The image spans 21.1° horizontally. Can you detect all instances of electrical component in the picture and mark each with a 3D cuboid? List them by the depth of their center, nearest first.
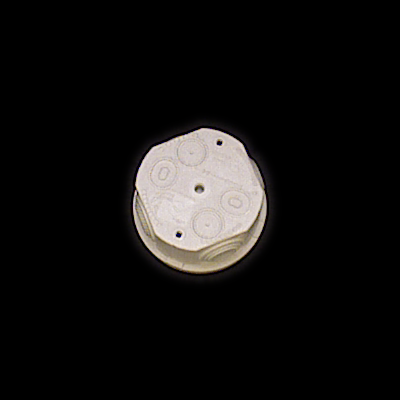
[{"bbox_3d":[0.000,0.000,0.631,0.080,0.080,0.050,0,-16,0],"label":"electrical component"}]
